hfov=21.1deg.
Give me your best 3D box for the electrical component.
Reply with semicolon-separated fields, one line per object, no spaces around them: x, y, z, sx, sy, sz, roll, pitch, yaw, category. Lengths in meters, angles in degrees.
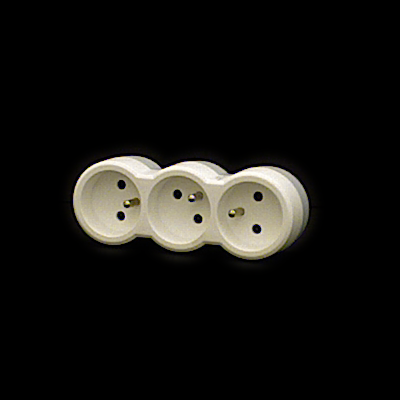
0.000;0.000;0.654;0.137;0.052;0.073;5;11;19;electrical component
